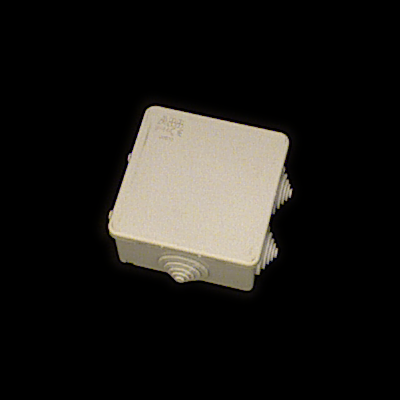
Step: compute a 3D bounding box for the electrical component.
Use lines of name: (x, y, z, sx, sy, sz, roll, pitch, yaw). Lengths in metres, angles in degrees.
electrical component: (0.000, 0.000, 0.640, 0.099, 0.100, 0.048, 13, -26, 6)
